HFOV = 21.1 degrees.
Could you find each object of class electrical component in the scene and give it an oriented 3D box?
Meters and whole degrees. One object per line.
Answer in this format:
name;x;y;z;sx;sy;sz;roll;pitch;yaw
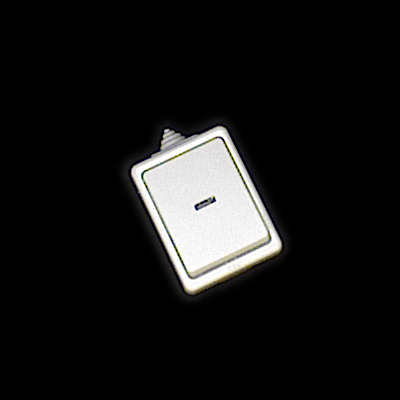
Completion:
electrical component;0.000;0.000;0.627;0.062;0.096;0.061;-25;-7;-2
